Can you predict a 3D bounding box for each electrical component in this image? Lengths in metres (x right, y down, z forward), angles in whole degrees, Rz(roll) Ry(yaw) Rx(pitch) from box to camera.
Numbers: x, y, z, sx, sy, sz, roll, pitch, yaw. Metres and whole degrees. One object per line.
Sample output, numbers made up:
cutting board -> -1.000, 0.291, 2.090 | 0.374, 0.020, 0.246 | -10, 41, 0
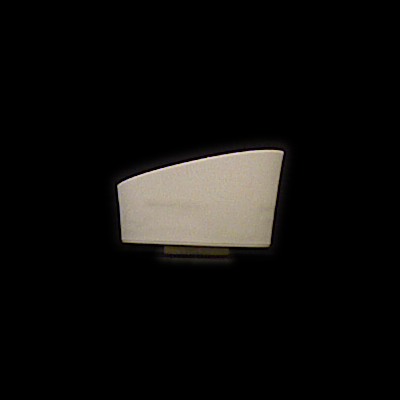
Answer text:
electrical component -> 0.000, 0.000, 0.650 | 0.099, 0.064, 0.099 | 2, 0, 0
